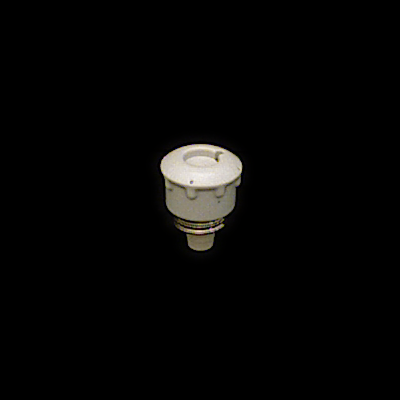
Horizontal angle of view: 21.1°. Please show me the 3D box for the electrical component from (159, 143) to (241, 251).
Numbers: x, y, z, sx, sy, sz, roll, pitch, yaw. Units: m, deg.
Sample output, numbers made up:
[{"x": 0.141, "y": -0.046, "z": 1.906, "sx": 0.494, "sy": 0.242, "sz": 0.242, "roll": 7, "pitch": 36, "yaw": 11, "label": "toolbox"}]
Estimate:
[{"x": 0.000, "y": 0.000, "z": 0.643, "sx": 0.048, "sy": 0.063, "sz": 0.047, "roll": 1, "pitch": 32, "yaw": 0, "label": "electrical component"}]
